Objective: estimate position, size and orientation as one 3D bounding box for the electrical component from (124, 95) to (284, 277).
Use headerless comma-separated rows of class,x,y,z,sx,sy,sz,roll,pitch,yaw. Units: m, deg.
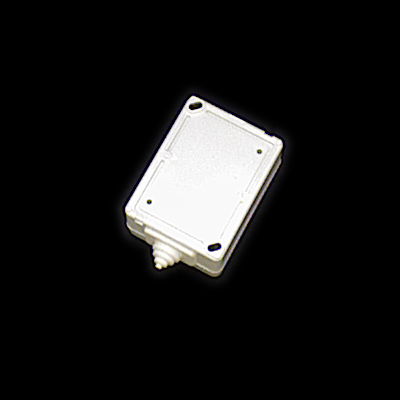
electrical component,-0.001,0.000,0.623,0.062,0.097,0.060,27,-15,7
